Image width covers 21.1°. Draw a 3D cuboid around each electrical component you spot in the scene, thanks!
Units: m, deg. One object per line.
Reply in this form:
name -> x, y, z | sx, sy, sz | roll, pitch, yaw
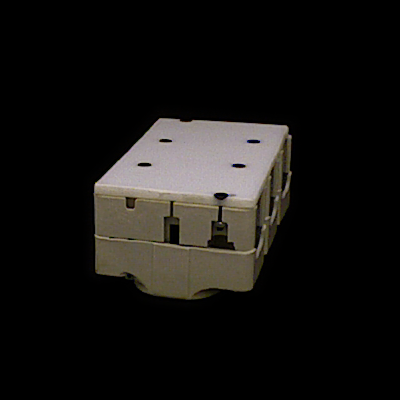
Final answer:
electrical component -> 0.000, 0.000, 0.648 | 0.089, 0.063, 0.147 | 6, 20, 11
